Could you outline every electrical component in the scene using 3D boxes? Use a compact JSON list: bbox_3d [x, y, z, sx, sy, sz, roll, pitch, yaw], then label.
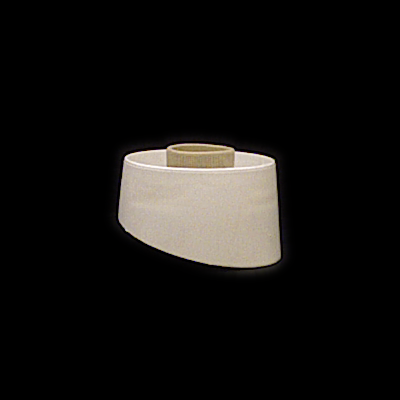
[{"bbox_3d":[0.000,0.000,0.643,0.099,0.064,0.098,2,10,0],"label":"electrical component"}]
